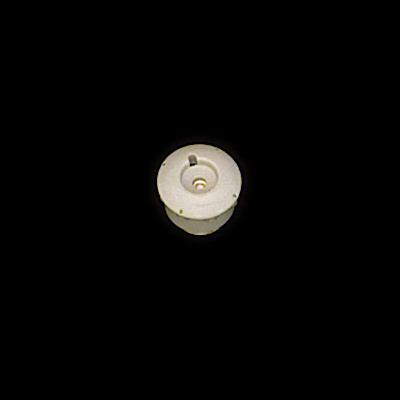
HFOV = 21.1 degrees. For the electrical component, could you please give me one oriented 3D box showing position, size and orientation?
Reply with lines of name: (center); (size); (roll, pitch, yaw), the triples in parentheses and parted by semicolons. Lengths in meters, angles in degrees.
electrical component: (0.000, 0.000, 0.633); (0.048, 0.048, 0.062); (0, -27, 0)
